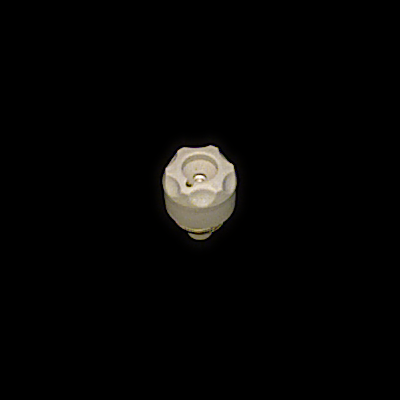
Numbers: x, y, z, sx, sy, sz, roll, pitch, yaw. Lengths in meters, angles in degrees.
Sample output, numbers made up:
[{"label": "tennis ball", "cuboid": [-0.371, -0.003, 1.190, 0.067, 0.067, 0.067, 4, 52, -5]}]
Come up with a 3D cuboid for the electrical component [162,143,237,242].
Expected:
[{"label": "electrical component", "cuboid": [0.000, 0.000, 0.636, 0.043, 0.043, 0.062, 0, -38, 0]}]
